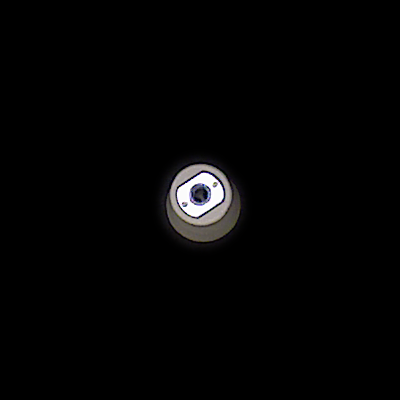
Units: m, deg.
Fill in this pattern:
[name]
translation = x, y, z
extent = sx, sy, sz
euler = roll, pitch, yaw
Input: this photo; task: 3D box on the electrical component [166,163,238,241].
[electrical component]
translation = 0.000, 0.000, 0.626
extent = 0.044, 0.044, 0.065
euler = 0, -7, 2
